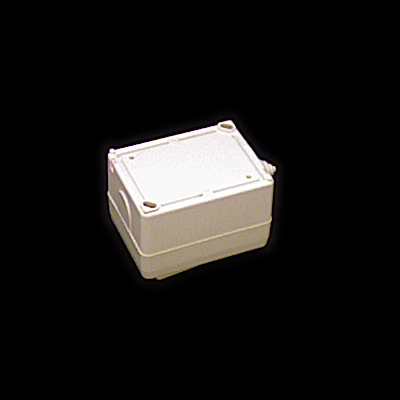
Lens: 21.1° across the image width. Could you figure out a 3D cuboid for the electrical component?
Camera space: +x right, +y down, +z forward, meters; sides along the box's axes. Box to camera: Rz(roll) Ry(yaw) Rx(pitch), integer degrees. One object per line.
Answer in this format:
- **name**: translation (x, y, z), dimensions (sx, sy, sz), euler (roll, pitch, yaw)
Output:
- **electrical component**: translation (0.000, 0.000, 0.630), dimensions (0.096, 0.061, 0.061), euler (-15, 44, -18)
